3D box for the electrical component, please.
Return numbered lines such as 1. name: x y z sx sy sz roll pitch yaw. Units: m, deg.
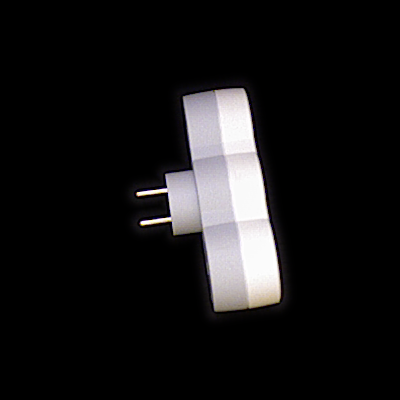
1. electrical component: 0.000 0.000 0.629 0.074 0.138 0.052 -8 -26 -2
